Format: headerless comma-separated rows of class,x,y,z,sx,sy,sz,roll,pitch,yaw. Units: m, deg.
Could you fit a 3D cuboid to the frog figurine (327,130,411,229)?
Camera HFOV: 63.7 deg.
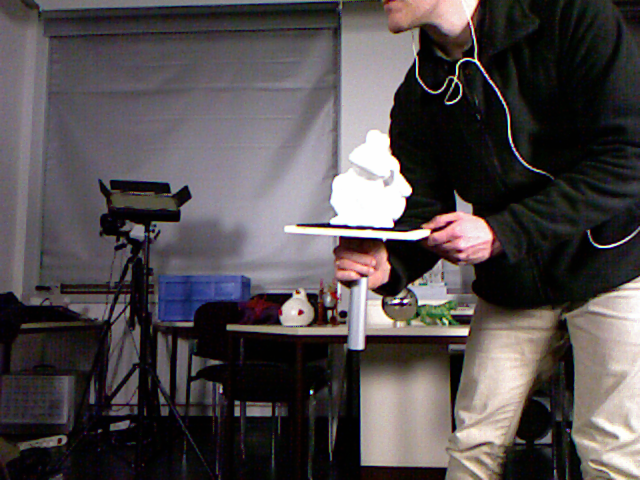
frog figurine,0.082,-0.101,0.857,0.138,0.159,0.123,7,6,36
